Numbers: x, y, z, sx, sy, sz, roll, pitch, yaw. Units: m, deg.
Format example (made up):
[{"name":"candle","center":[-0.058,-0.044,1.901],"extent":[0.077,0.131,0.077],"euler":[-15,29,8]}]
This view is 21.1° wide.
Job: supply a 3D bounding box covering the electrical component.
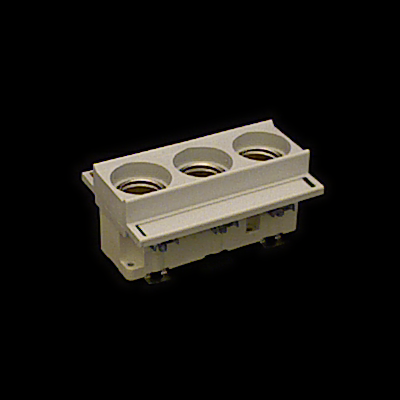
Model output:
[{"name":"electrical component","center":[0.000,0.000,0.646],"extent":[0.121,0.064,0.077],"euler":[-16,37,-24]}]
